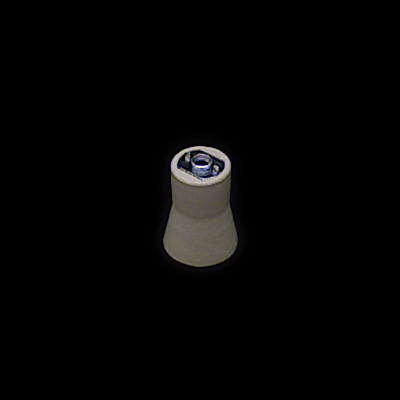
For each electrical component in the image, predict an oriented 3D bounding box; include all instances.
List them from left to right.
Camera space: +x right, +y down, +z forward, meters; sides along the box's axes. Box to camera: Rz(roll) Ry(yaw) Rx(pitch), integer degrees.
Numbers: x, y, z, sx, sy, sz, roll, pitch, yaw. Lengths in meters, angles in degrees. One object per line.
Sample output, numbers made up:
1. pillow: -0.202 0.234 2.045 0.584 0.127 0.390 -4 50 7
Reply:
1. electrical component: 0.000 0.000 0.628 0.044 0.066 0.044 0 43 0
